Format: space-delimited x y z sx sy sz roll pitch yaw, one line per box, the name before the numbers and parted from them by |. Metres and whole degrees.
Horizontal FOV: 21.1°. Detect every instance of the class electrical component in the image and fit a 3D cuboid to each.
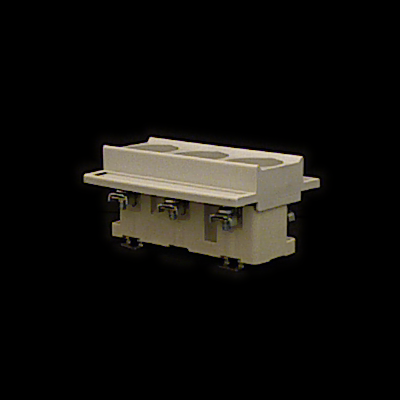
electrical component | 0.000 0.000 0.655 0.120 0.063 0.078 10 16 40
